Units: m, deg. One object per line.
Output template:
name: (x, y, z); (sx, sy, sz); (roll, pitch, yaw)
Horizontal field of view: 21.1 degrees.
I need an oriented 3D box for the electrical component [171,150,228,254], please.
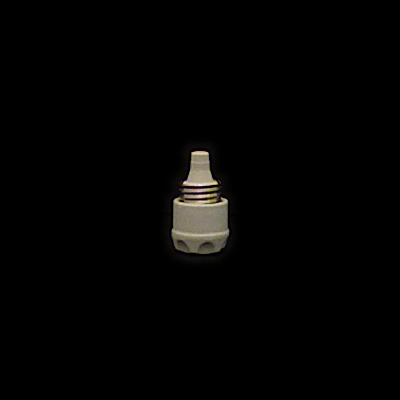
electrical component: (0.000, 0.000, 0.656); (0.035, 0.062, 0.035); (0, 12, 0)
